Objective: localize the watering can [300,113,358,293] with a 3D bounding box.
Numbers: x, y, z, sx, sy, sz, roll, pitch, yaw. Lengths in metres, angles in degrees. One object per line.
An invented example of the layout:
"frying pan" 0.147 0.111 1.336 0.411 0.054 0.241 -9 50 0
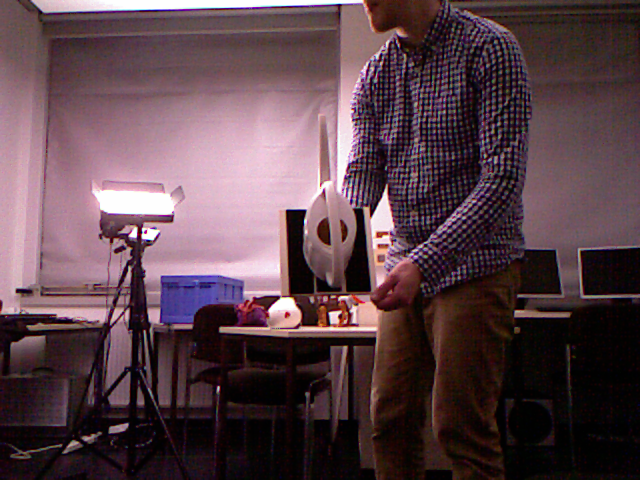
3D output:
"watering can" 0.014 -0.058 1.032 0.104 0.354 0.221 -2 -21 -7
